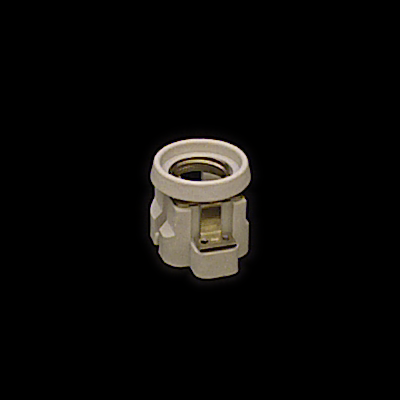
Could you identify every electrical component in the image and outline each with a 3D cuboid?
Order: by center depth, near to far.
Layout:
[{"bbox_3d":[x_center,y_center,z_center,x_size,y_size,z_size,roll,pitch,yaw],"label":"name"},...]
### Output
[{"bbox_3d":[0.000,0.000,0.634,0.058,0.057,0.077,-9,33,-15],"label":"electrical component"}]
